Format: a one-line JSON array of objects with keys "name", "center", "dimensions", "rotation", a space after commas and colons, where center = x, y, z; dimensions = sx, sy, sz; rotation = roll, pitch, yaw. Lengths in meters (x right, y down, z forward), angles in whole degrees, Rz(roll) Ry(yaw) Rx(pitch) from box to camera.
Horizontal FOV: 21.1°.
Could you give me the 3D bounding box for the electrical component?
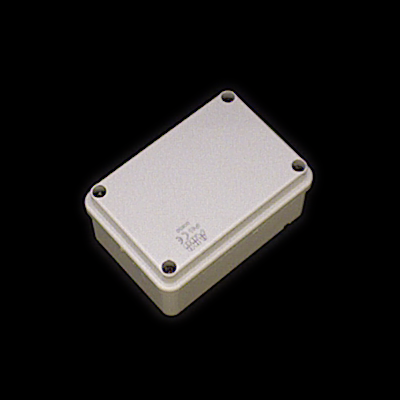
[{"name": "electrical component", "center": [0.000, 0.000, 0.626], "dimensions": [0.113, 0.078, 0.057], "rotation": [-38, -21, -18]}]
